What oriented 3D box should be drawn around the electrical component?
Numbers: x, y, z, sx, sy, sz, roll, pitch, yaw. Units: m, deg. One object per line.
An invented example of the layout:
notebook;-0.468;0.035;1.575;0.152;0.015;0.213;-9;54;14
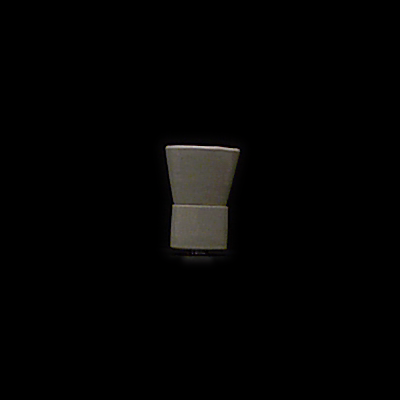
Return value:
electrical component;0.000;0.000;0.649;0.044;0.065;0.044;2;1;0
